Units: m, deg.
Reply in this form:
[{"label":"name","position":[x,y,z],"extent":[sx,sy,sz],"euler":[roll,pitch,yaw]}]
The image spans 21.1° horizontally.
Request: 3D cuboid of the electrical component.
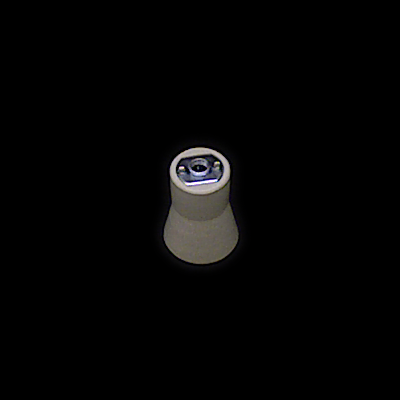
[{"label":"electrical component","position":[0.000,0.000,0.628],"extent":[0.044,0.044,0.065],"euler":[0,-39,0]}]
